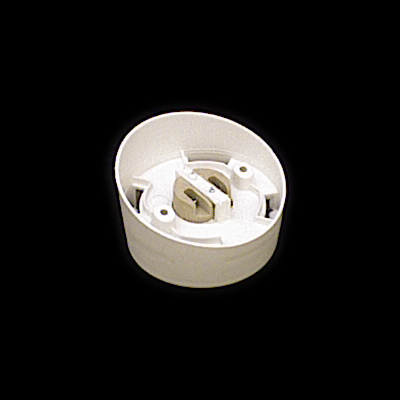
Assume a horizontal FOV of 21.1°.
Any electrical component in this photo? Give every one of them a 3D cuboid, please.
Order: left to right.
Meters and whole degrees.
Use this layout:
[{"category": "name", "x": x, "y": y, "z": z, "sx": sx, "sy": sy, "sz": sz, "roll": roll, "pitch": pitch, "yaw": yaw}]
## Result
[{"category": "electrical component", "x": 0.000, "y": 0.000, "z": 0.629, "sx": 0.099, "sy": 0.065, "sz": 0.098, "roll": 0, "pitch": 41, "yaw": 0}]
